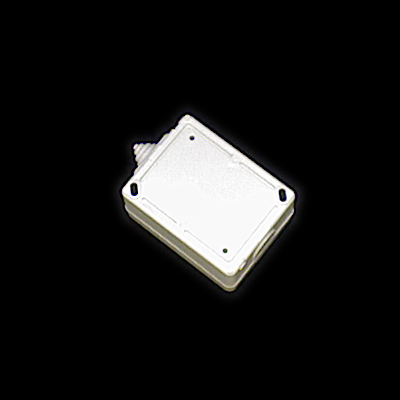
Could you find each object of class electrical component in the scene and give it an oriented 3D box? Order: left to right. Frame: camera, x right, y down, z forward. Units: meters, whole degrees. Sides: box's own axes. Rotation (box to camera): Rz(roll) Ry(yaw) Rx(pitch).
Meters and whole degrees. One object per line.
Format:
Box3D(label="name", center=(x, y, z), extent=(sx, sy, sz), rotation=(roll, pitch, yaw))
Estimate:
Box3D(label="electrical component", center=(0.000, 0.000, 0.627), extent=(0.096, 0.062, 0.061), rotation=(37, -13, 10))
